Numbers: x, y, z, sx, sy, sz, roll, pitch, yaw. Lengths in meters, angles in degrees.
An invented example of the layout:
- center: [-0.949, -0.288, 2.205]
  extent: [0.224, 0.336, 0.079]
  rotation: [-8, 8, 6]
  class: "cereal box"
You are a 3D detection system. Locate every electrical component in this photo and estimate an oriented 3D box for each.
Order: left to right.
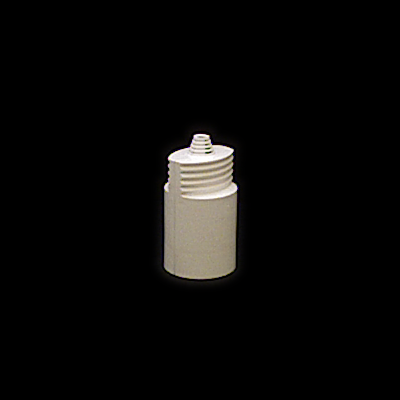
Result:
- center: [0.000, 0.000, 0.635]
  extent: [0.043, 0.082, 0.042]
  rotation: [1, 21, 0]
  class: "electrical component"
